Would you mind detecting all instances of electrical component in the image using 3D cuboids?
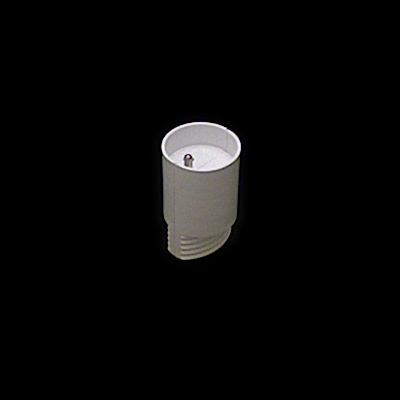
[{"bbox_3d":[0.000,0.000,0.621,0.043,0.082,0.042,0,42,0],"label":"electrical component"}]
